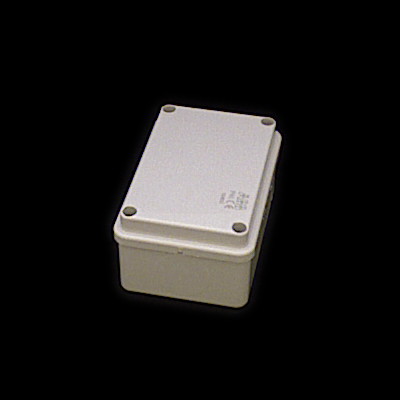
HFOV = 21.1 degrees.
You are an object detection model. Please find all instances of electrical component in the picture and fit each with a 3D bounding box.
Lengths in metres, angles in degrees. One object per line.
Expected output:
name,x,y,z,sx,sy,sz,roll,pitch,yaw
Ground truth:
electrical component,0.000,0.000,0.631,0.078,0.057,0.112,8,42,8
